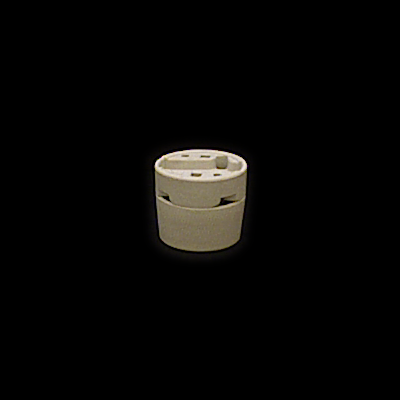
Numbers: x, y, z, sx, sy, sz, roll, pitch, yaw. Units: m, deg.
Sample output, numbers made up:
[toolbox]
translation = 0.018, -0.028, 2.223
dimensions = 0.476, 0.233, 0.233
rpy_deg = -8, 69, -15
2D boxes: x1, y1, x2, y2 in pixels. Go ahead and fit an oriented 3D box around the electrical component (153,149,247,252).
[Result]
[electrical component]
translation = 0.000, 0.000, 0.641
dimensions = 0.055, 0.047, 0.055
rpy_deg = 1, 21, 0
